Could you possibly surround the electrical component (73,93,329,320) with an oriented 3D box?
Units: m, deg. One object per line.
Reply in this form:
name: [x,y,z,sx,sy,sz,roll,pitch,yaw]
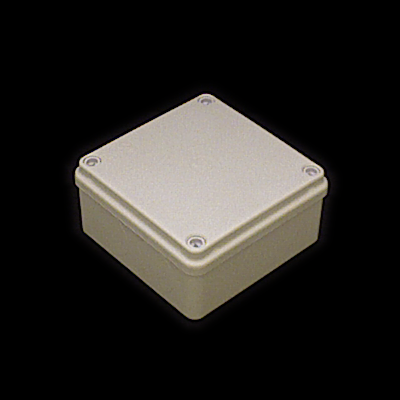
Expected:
electrical component: [0.000,0.000,0.632,0.108,0.056,0.108,-31,52,-31]
